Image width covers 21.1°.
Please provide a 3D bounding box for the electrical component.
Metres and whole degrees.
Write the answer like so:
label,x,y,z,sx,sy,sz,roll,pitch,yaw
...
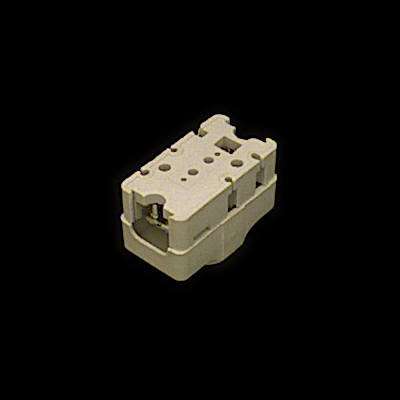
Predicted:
label,x,y,z,sx,sy,sz,roll,pitch,yaw
electrical component,0.000,0.000,0.639,0.049,0.056,0.090,30,49,29
